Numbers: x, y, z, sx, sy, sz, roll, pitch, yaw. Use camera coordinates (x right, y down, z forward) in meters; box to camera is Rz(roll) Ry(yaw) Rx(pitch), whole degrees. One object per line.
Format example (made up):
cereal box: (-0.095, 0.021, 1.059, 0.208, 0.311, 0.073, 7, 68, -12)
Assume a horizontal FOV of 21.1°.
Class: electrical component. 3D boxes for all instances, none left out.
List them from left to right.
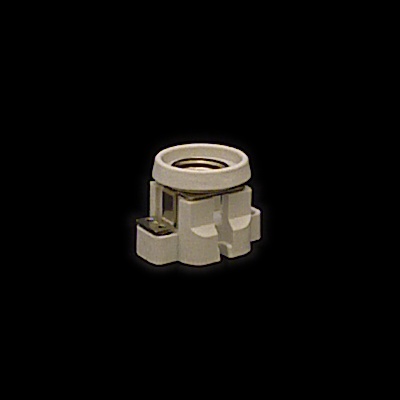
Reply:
electrical component: (0.000, 0.000, 0.637, 0.078, 0.057, 0.057, -13, 25, -33)
